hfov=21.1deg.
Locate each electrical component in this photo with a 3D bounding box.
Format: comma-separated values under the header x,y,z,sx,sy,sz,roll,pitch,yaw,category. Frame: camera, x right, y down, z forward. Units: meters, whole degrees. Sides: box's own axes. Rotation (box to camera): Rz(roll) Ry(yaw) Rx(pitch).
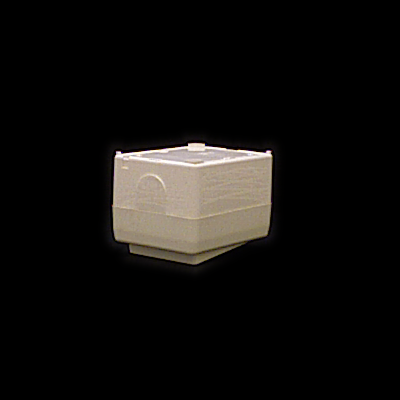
x,y,z,sx,sy,sz,roll,pitch,yaw,category
0.000,0.000,0.644,0.061,0.061,0.096,9,12,35,electrical component
